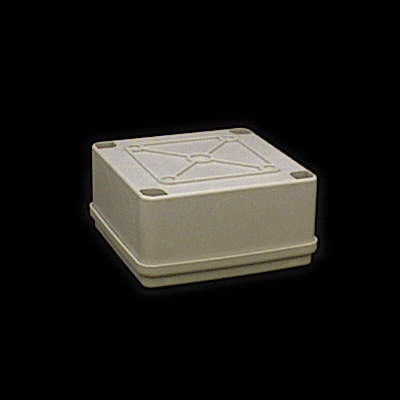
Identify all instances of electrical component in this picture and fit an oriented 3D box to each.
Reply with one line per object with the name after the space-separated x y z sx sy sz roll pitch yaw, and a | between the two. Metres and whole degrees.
0.000 0.000 0.636 0.109 0.057 0.107 -7 22 -20 | electrical component
